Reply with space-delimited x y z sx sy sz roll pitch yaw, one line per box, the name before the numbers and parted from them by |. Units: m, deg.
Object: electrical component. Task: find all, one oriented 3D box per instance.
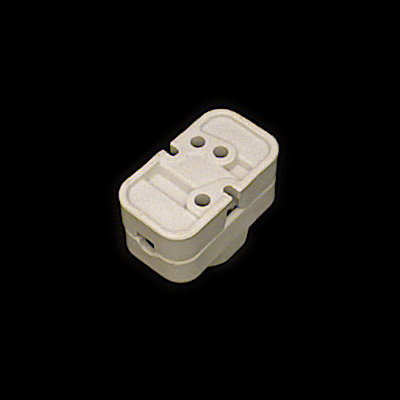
electrical component | 0.000 0.000 0.636 0.053 0.095 0.059 35 -29 23
